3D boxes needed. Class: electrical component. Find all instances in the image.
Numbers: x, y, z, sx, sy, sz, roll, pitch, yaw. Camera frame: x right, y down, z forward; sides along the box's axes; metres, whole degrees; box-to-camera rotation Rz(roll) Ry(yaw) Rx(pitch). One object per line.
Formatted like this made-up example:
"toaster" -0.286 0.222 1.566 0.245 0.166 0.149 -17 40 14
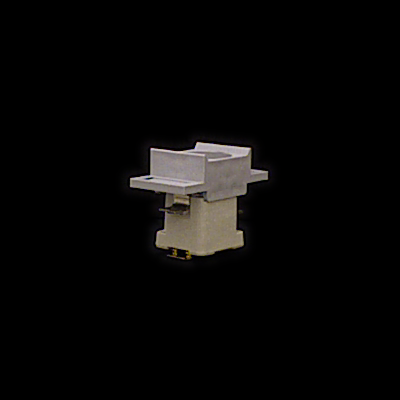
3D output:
"electrical component" 0.000 0.000 0.646 0.042 0.064 0.080 9 13 39
